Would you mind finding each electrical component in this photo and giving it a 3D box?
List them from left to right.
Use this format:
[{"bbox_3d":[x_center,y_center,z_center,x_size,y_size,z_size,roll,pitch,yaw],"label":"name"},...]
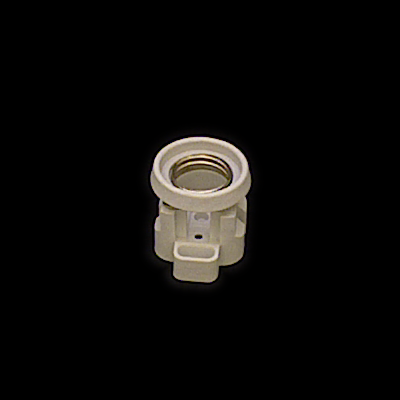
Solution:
[{"bbox_3d":[0.000,0.000,0.633,0.058,0.057,0.077,4,42,4],"label":"electrical component"}]
